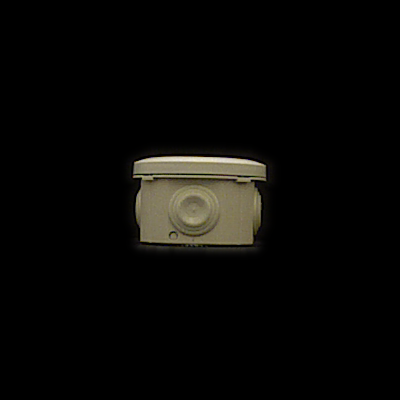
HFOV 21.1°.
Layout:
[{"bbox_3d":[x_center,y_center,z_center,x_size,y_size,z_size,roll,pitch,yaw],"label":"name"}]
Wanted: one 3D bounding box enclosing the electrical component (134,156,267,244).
[{"bbox_3d":[0.000,0.000,0.647,0.080,0.051,0.080,1,0,0],"label":"electrical component"}]
